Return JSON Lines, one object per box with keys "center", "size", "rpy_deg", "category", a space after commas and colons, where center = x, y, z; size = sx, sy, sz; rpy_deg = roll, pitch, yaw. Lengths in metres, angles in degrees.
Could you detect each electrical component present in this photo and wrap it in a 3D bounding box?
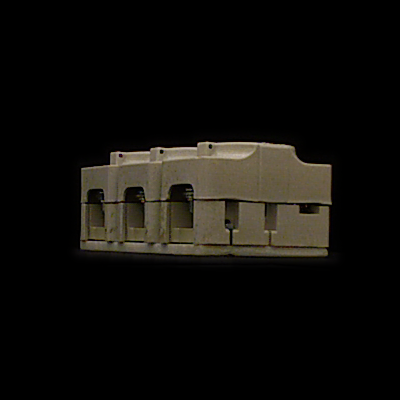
{"center": [0.000, 0.000, 0.655], "size": [0.090, 0.062, 0.150], "rpy_deg": [1, -1, -33], "category": "electrical component"}
